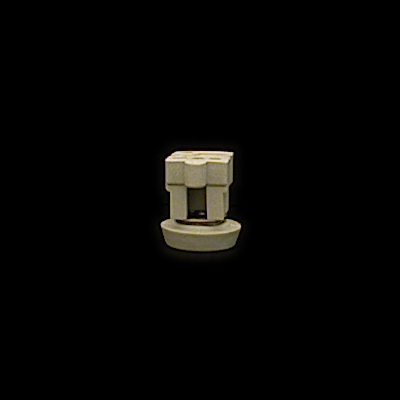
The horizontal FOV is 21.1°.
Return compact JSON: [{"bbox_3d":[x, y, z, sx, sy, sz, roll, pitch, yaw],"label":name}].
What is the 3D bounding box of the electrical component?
[{"bbox_3d":[0.000,0.000,0.651,0.048,0.056,0.066,1,11,6],"label":"electrical component"}]
